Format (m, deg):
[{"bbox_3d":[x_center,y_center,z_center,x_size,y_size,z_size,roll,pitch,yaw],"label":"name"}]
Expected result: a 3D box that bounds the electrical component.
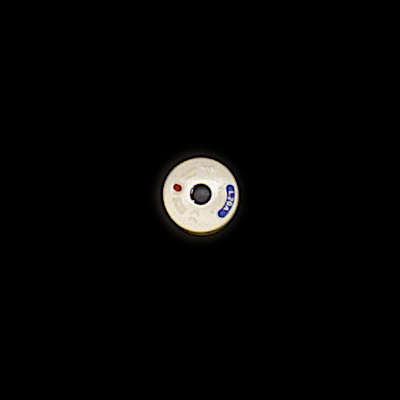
[{"bbox_3d":[0.000,0.000,0.618,0.040,0.040,0.078,0,-6,1],"label":"electrical component"}]
